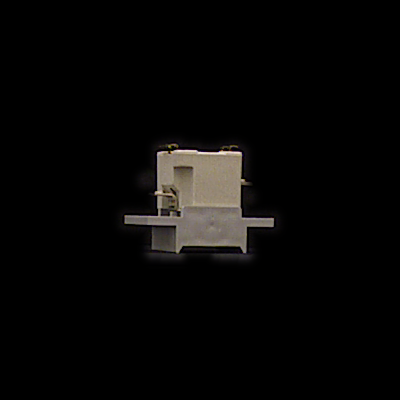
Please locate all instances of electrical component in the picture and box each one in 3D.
[{"bbox_3d":[0.000,0.000,0.649,0.081,0.064,0.042,1,1,-24],"label":"electrical component"}]
